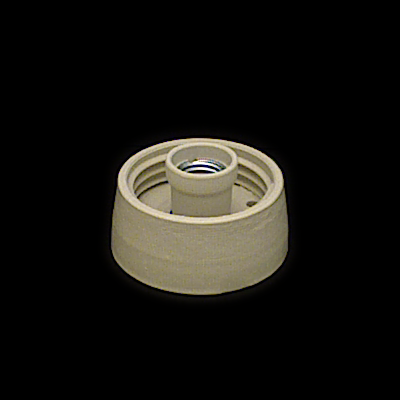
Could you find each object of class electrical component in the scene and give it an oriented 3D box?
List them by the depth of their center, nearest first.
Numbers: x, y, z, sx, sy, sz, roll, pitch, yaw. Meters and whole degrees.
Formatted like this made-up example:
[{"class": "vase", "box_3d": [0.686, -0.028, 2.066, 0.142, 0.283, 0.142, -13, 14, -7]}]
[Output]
[{"class": "electrical component", "box_3d": [0.000, 0.000, 0.640, 0.108, 0.061, 0.106, 1, 32, 0]}]
